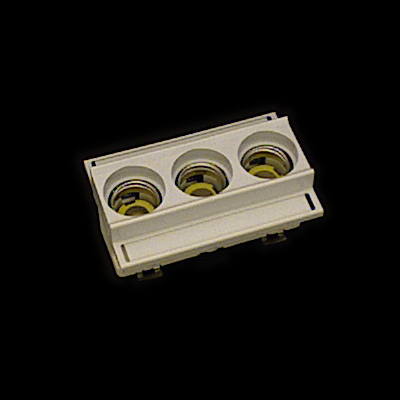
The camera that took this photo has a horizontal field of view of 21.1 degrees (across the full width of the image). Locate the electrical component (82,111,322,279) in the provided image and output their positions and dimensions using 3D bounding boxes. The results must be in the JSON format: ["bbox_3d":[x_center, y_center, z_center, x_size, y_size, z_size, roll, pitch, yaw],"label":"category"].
[{"bbox_3d":[0.000,0.000,0.639,0.121,0.078,0.063,-15,-34,-11],"label":"electrical component"}]
